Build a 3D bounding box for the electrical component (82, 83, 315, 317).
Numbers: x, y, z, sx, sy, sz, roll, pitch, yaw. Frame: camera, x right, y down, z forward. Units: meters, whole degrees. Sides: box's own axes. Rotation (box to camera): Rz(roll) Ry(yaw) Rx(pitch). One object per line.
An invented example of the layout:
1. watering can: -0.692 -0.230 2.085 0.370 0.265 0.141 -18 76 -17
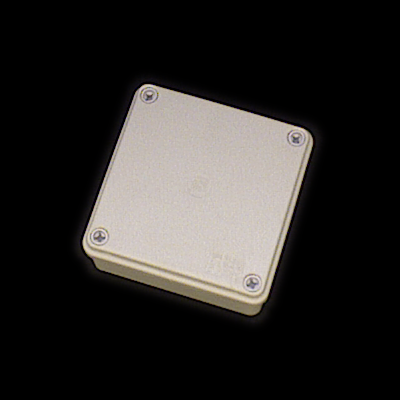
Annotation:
1. electrical component: 0.000 0.000 0.630 0.109 0.109 0.056 16 -17 5
